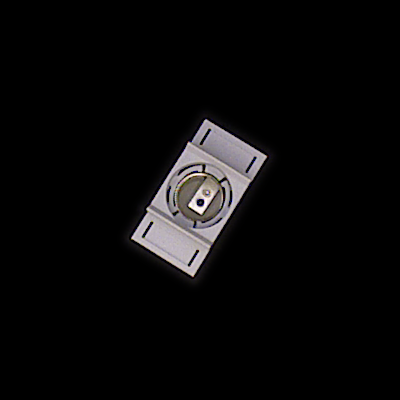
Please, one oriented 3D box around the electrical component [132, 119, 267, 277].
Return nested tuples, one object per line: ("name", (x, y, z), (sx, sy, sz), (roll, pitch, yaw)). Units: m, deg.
("electrical component", (0.000, 0.000, 0.625), (0.042, 0.081, 0.063), (32, -5, 4))
